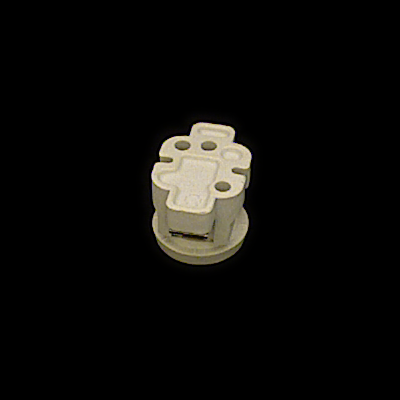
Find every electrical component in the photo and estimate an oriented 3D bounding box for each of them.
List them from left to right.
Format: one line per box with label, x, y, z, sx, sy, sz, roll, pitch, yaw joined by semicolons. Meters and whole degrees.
electrical component;0.000;0.000;0.638;0.058;0.057;0.078;8;45;7
